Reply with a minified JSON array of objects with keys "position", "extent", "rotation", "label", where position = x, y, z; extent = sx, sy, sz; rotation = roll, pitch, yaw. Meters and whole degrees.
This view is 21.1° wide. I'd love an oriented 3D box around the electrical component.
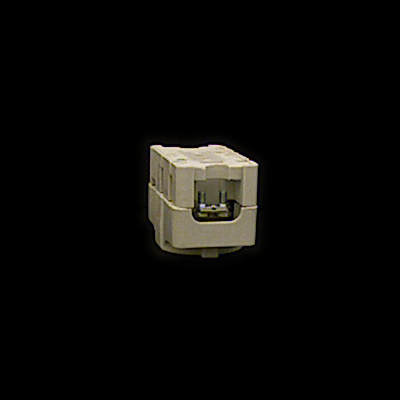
[{"position":[0.000,0.000,0.652],"extent":[0.050,0.056,0.088],"rotation":[-1,12,-13],"label":"electrical component"}]
